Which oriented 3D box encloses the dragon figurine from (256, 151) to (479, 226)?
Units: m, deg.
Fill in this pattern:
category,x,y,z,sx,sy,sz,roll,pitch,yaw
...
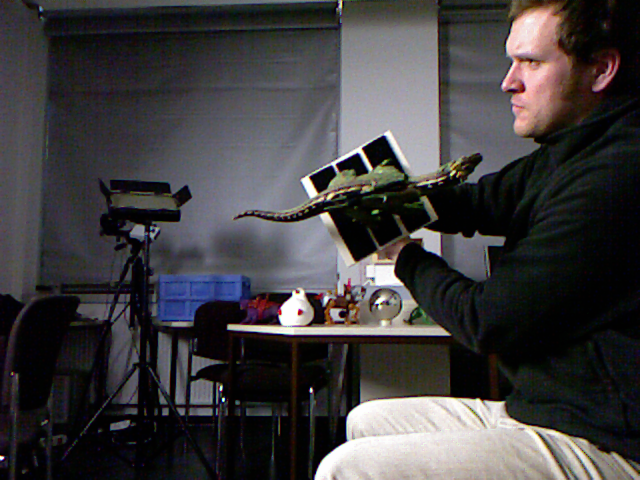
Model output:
category,x,y,z,sx,sy,sz,roll,pitch,yaw
dragon figurine,0.074,-0.084,0.908,0.412,0.123,0.244,-14,-2,1
